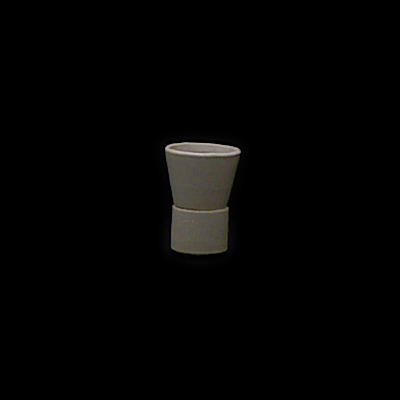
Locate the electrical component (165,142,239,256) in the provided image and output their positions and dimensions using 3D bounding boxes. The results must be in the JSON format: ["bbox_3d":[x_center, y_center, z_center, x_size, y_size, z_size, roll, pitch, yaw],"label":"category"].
[{"bbox_3d":[0.000,0.000,0.643,0.044,0.066,0.044,2,11,0],"label":"electrical component"}]
